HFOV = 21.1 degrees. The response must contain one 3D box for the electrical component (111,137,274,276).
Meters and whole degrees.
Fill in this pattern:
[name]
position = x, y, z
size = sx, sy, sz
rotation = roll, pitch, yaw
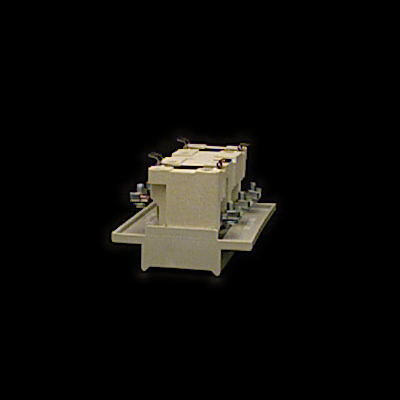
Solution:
[electrical component]
position = 0.000, 0.000, 0.652
size = 0.078, 0.063, 0.120
rotation = 4, 11, 9
